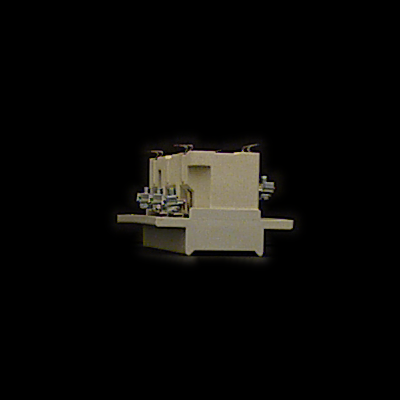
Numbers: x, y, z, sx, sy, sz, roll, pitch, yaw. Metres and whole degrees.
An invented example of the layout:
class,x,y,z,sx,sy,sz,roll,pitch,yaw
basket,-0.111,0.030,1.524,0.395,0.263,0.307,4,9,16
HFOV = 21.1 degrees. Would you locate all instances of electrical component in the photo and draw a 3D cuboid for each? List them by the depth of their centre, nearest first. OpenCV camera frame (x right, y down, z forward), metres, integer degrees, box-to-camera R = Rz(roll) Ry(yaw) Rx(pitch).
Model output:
class,x,y,z,sx,sy,sz,roll,pitch,yaw
electrical component,0.000,0.000,0.655,0.079,0.063,0.120,1,0,-15
